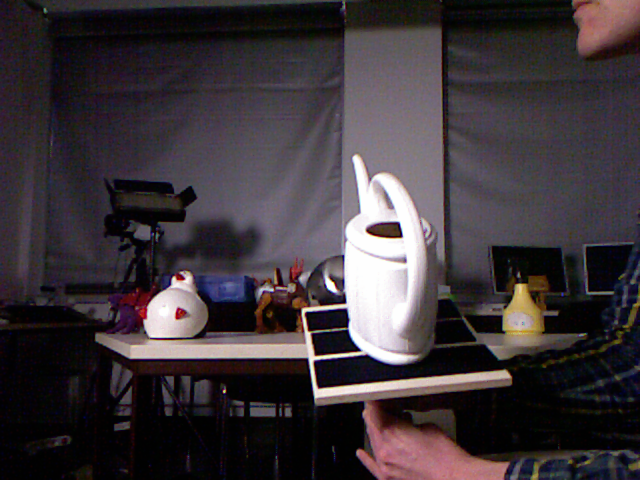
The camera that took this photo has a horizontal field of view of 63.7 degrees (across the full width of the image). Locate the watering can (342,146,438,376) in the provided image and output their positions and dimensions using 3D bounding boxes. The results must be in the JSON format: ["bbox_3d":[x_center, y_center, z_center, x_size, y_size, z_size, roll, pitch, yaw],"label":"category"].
[{"bbox_3d":[0.074,0.012,0.627,0.105,0.222,0.356,-4,22,-5],"label":"watering can"}]
